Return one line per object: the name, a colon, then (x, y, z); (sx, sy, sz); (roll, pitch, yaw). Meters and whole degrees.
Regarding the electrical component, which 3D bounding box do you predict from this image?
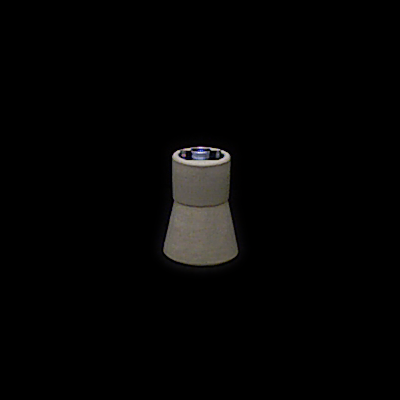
electrical component: (0.000, 0.000, 0.640); (0.044, 0.066, 0.044); (1, 20, 0)
